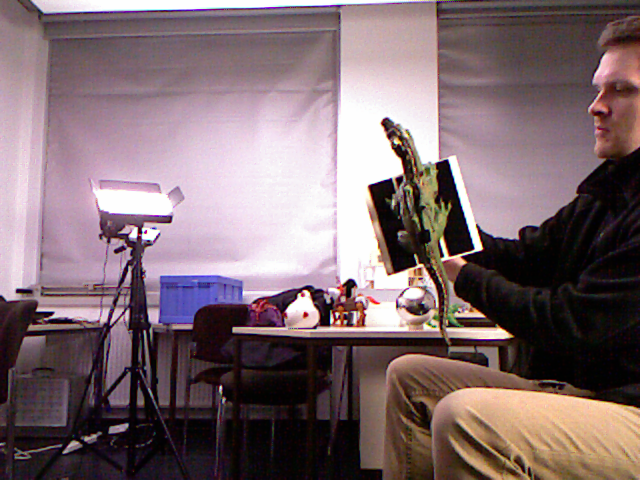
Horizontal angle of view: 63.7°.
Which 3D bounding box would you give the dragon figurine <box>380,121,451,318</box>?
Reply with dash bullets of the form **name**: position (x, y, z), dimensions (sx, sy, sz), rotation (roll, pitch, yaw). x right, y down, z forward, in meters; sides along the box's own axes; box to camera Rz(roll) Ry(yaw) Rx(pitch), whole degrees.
- **dragon figurine**: position (0.191, -0.027, 0.967), dimensions (0.122, 0.412, 0.245), rotation (-16, 1, 15)
